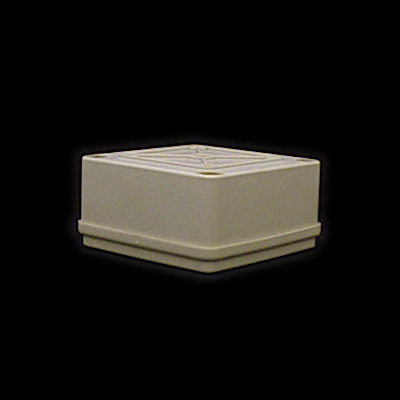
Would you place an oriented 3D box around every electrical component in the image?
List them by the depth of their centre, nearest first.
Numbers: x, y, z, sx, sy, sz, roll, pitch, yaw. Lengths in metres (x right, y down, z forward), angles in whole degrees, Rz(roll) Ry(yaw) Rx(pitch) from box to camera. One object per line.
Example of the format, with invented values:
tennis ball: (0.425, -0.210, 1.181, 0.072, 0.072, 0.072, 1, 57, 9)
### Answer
electrical component: (0.000, 0.000, 0.646, 0.108, 0.056, 0.108, 11, 14, 40)
